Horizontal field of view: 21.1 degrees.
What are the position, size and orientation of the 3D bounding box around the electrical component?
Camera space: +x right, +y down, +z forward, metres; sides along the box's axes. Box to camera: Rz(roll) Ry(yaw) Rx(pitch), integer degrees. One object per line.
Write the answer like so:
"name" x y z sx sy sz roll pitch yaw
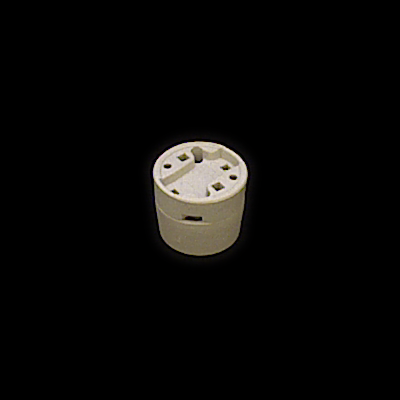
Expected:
"electrical component" 0.000 0.000 0.637 0.055 0.047 0.055 1 43 0
